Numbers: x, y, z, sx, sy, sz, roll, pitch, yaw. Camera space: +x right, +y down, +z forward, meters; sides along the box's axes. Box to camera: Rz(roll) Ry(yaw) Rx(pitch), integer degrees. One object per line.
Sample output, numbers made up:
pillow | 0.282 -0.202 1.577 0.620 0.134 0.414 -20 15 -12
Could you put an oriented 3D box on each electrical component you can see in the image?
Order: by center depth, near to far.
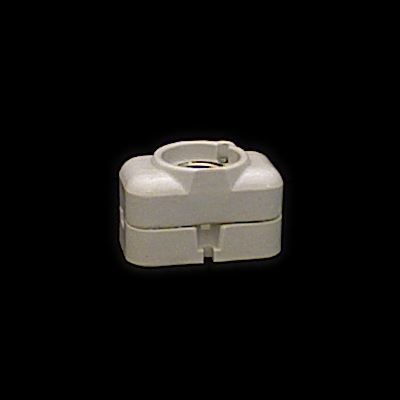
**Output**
electrical component | 0.000 0.000 0.647 0.095 0.060 0.053 -3 23 -13
